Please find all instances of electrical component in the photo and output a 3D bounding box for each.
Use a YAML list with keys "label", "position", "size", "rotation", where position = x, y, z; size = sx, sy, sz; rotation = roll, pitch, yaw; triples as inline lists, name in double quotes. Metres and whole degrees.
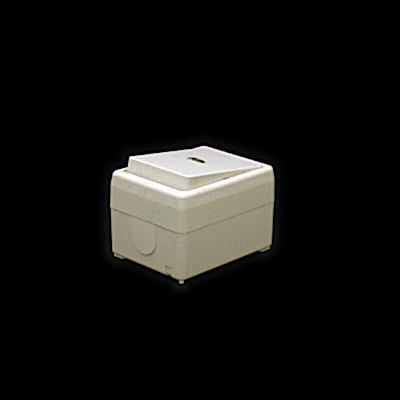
- label: "electrical component"
  position: [0.000, 0.000, 0.640]
  size: [0.061, 0.061, 0.096]
  rotation: [20, 28, 40]
